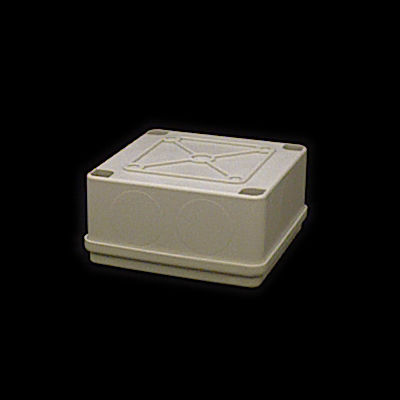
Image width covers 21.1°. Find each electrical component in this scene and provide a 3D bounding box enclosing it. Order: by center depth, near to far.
[{"bbox_3d":[0.000,0.000,0.640,0.108,0.057,0.108,8,21,17],"label":"electrical component"}]
